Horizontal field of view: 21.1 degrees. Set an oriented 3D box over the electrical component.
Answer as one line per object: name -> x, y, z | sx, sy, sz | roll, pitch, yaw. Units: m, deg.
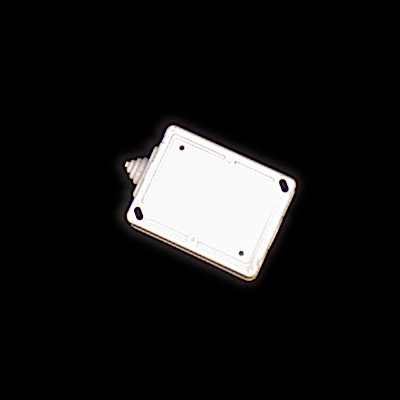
electrical component -> 0.000, 0.000, 0.630 | 0.096, 0.062, 0.061 | 25, -6, 4
